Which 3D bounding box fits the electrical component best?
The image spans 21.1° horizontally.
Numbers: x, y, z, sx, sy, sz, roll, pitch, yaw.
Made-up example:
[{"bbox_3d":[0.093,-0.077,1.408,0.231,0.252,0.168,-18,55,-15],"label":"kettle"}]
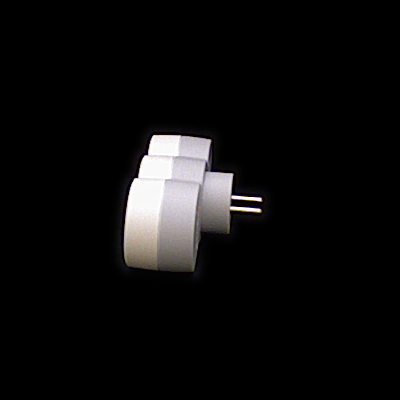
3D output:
[{"bbox_3d":[0.000,0.000,0.643,0.074,0.053,0.137,4,20,3],"label":"electrical component"}]
